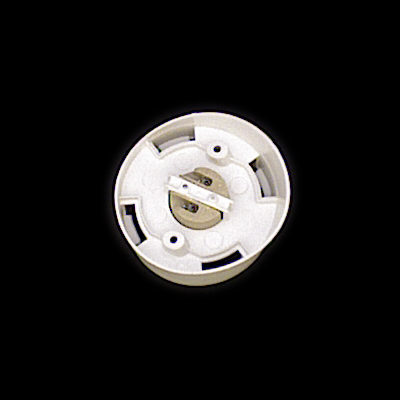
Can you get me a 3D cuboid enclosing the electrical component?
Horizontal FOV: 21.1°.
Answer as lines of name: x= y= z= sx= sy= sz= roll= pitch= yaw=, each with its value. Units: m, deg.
electrical component: x=0.000 y=0.000 z=0.624 sx=0.099 sy=0.099 sz=0.064 roll=0 pitch=-17 yaw=-1
